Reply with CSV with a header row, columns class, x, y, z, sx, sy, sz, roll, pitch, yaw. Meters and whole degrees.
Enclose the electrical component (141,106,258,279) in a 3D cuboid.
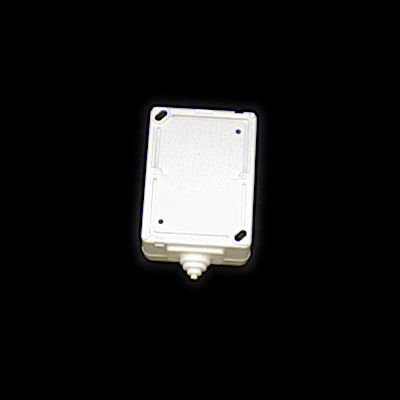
class,x,y,z,sx,sy,sz,roll,pitch,yaw
electrical component,0.000,0.000,0.623,0.062,0.097,0.060,3,-17,0
